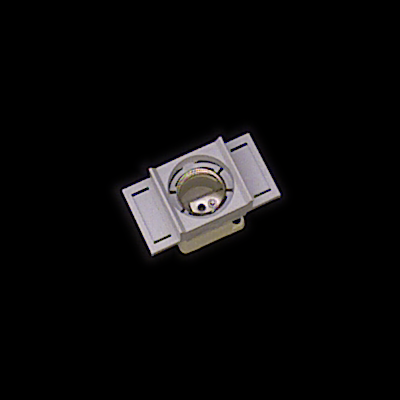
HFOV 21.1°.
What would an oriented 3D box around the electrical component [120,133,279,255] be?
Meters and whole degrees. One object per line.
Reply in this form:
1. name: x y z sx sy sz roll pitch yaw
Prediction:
1. electrical component: 0.000 0.000 0.624 0.081 0.042 0.063 -24 -16 -6
